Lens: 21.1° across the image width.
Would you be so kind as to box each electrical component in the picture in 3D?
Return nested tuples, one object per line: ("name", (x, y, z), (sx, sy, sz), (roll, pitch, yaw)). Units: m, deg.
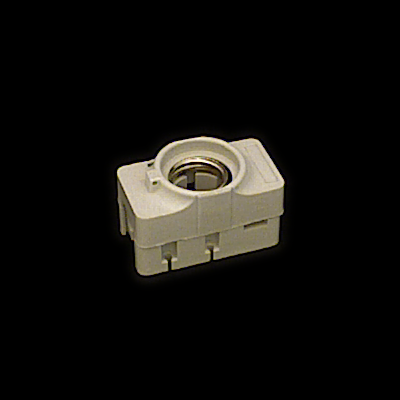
("electrical component", (0.000, 0.000, 0.640), (0.090, 0.056, 0.049), (-13, 44, -15))
